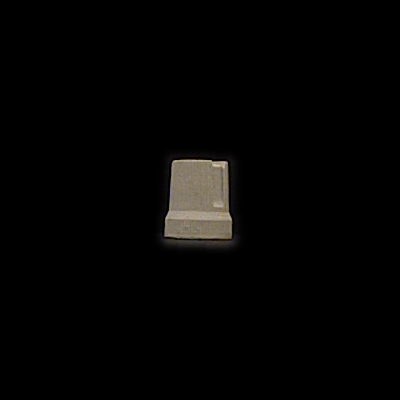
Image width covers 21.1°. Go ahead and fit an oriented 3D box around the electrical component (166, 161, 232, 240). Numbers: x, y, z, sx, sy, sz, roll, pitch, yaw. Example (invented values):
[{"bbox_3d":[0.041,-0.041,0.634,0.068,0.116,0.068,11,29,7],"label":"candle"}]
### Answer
[{"bbox_3d":[0.000,0.000,0.651,0.040,0.046,0.040,2,1,0],"label":"electrical component"}]
